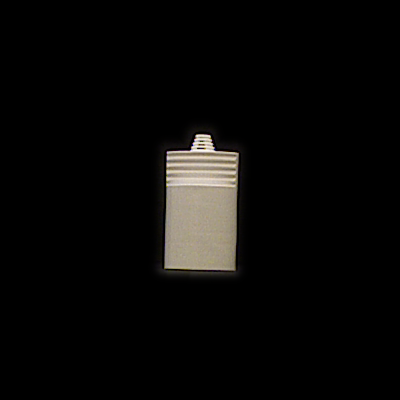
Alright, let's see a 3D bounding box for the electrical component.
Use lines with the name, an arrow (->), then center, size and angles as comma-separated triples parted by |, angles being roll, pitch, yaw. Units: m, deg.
electrical component -> 0.000, 0.000, 0.649 | 0.043, 0.081, 0.043 | 1, 1, 0
